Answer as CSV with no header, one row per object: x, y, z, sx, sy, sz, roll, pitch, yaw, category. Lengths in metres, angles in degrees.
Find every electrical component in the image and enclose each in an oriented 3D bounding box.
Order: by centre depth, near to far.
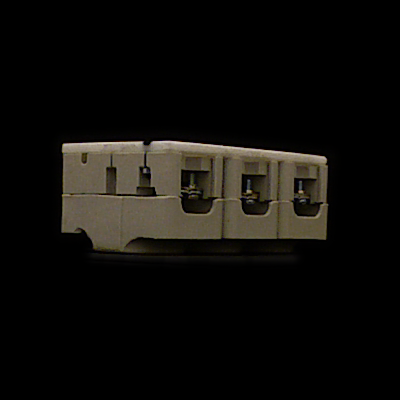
0.000,0.000,0.660,0.089,0.062,0.150,2,-1,42,electrical component
